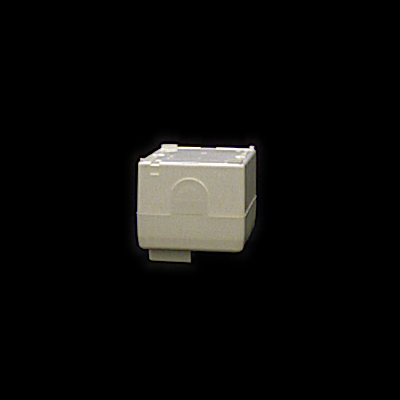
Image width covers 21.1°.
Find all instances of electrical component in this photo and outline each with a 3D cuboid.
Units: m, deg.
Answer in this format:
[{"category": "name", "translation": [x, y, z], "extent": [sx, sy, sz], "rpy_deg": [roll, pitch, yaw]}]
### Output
[{"category": "electrical component", "translation": [0.000, 0.000, 0.652], "extent": [0.061, 0.061, 0.095], "rpy_deg": [2, 11, 7]}]
